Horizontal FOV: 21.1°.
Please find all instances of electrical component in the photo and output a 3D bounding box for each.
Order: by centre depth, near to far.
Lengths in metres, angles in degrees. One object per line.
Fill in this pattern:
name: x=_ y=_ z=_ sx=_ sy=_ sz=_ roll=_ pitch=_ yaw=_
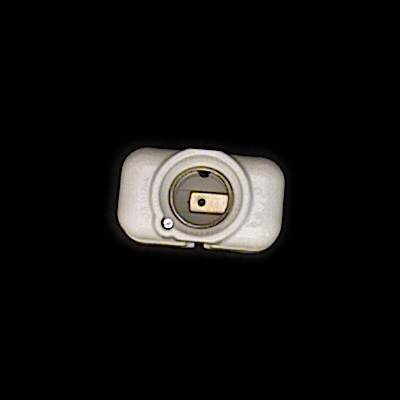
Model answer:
electrical component: x=0.000 y=0.000 z=0.635 sx=0.095 sy=0.054 sz=0.059 roll=4 pitch=-6 yaw=1
